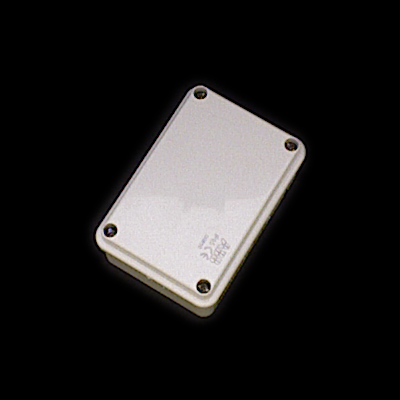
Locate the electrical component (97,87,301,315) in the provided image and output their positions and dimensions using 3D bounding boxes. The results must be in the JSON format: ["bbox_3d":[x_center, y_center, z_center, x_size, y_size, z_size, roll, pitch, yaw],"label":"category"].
[{"bbox_3d":[0.000,0.000,0.626,0.078,0.113,0.057,30,-15,9],"label":"electrical component"}]
